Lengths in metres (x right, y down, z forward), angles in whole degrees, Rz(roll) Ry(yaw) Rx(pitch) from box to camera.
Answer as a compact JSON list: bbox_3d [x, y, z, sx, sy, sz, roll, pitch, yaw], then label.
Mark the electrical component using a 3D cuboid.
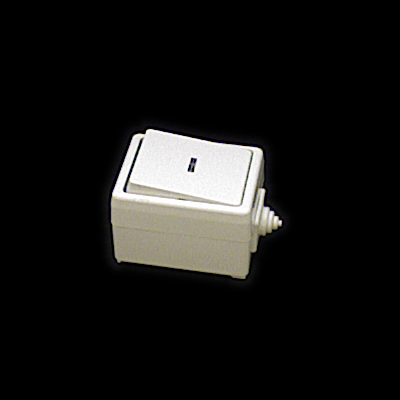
[{"bbox_3d":[0.000,0.000,0.630,0.096,0.061,0.061,7,42,7],"label":"electrical component"}]
